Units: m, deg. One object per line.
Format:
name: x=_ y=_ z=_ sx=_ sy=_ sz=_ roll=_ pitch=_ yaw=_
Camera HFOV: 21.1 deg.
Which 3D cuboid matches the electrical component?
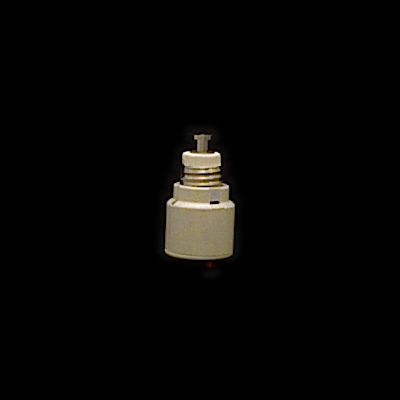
electrical component: x=0.000 y=0.000 z=0.641 sx=0.040 sy=0.079 sz=0.040 roll=2 pitch=10 yaw=0
